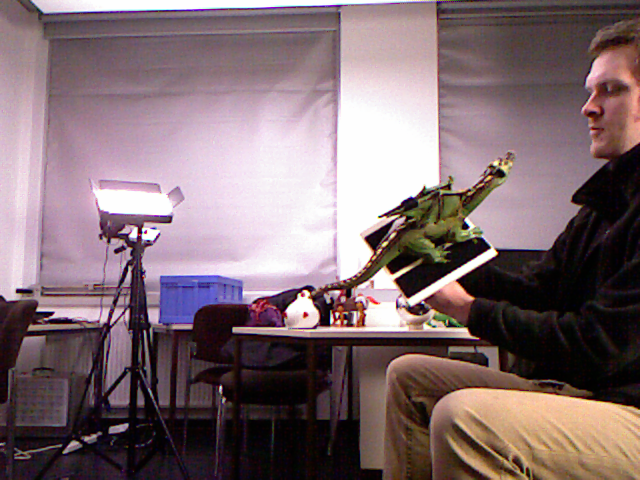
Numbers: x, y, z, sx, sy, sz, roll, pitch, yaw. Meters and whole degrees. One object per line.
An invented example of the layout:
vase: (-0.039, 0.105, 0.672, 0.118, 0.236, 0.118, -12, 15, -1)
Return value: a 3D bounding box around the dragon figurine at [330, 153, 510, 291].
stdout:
dragon figurine: (0.186, -0.034, 0.964, 0.412, 0.124, 0.239, -31, -26, -4)
